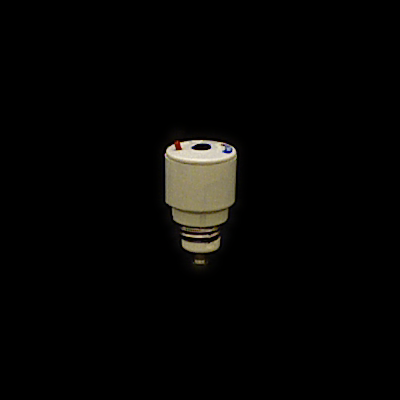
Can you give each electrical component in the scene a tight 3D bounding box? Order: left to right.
[{"bbox_3d":[0.000,0.000,0.635,0.040,0.079,0.039,1,21,0],"label":"electrical component"}]
